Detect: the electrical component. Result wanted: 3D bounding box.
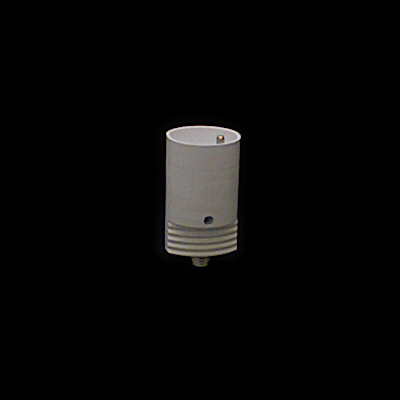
[{"bbox_3d":[0.000,0.000,0.637,0.043,0.082,0.042,2,22,0],"label":"electrical component"}]
